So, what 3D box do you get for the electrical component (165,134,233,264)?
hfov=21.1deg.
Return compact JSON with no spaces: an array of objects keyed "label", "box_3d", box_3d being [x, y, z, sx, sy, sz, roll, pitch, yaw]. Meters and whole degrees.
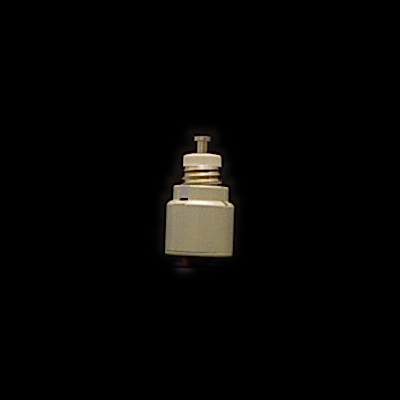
[{"label":"electrical component","box_3d":[0.000,0.000,0.651,0.040,0.078,0.040,2,2,0]}]
